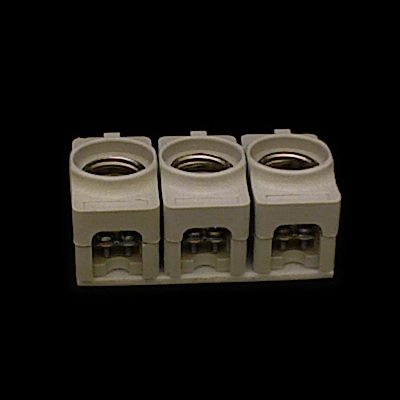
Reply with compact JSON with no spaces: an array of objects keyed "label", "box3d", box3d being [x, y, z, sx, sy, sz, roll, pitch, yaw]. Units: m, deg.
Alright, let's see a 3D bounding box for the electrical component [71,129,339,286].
[{"label":"electrical component","box3d":[0.000,0.000,0.642,0.150,0.063,0.087,-1,30,-5]}]
